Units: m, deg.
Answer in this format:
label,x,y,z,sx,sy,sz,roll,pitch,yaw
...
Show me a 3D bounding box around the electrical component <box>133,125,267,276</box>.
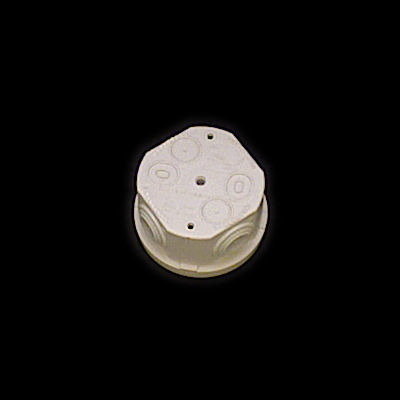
label,x,y,z,sx,sy,sz,roll,pitch,yaw
electrical component,0.000,0.000,0.632,0.080,0.080,0.050,0,-28,0
